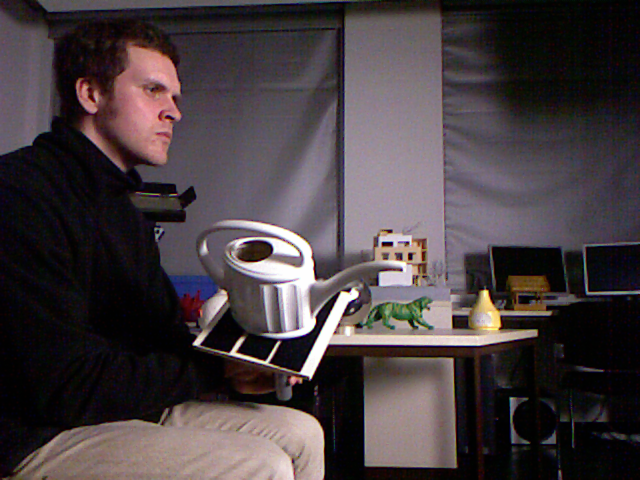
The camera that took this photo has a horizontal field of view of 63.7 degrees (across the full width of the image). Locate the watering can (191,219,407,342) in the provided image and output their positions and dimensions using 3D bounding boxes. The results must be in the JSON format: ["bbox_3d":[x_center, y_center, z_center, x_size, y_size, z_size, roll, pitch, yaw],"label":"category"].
[{"bbox_3d":[-0.041,0.072,0.800,0.349,0.220,0.107,12,42,18],"label":"watering can"}]
